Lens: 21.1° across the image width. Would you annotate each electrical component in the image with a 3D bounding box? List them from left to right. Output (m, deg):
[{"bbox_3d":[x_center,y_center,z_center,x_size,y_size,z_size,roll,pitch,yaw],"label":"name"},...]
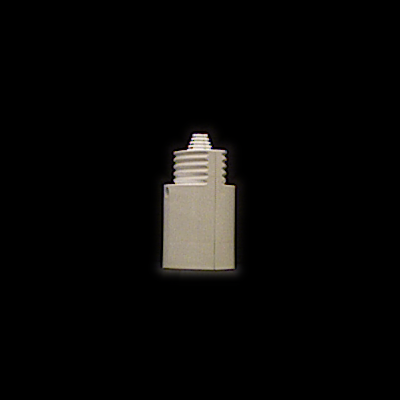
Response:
[{"bbox_3d":[0.000,0.000,0.650,0.043,0.081,0.043,1,1,0],"label":"electrical component"}]
